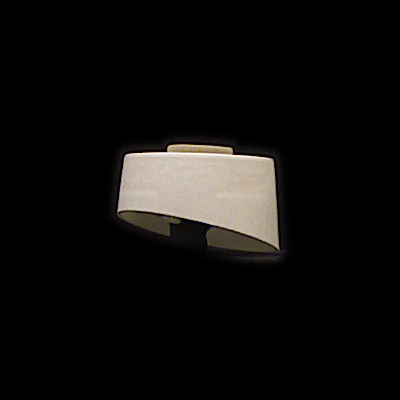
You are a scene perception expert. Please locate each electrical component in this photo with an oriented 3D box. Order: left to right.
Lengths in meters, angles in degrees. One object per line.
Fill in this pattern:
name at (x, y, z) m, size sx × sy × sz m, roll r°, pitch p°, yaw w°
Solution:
electrical component at (0.000, 0.000, 0.648) m, size 0.099 × 0.064 × 0.099 m, roll 2°, pitch 0°, yaw 0°
